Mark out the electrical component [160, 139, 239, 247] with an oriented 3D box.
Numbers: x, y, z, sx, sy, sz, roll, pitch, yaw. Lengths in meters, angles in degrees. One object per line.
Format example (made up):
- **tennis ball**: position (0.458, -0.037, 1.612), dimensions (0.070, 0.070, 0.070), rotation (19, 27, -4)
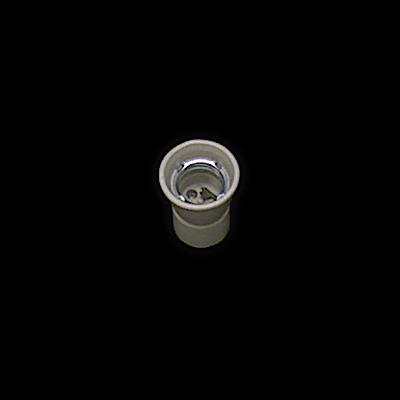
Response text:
- **electrical component**: position (0.000, 0.000, 0.625), dimensions (0.044, 0.044, 0.065), rotation (0, -28, 1)
